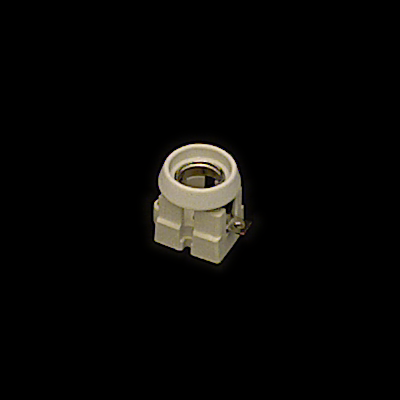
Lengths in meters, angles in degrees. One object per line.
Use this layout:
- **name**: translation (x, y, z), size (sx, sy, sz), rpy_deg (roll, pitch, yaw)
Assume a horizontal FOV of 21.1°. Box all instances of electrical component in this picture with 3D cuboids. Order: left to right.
- **electrical component**: translation (0.000, 0.000, 0.640), size (0.066, 0.056, 0.048), rpy_deg (18, 47, 18)
